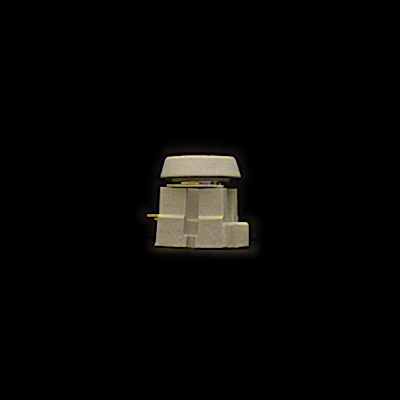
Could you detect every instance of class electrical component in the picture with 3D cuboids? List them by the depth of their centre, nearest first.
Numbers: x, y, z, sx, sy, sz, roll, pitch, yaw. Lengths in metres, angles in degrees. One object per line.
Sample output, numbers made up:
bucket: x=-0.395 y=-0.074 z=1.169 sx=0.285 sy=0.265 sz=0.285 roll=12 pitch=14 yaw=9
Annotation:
electrical component: x=0.000 y=0.000 z=0.656 sx=0.066 sy=0.055 sz=0.049 roll=2 pitch=0 yaw=15
